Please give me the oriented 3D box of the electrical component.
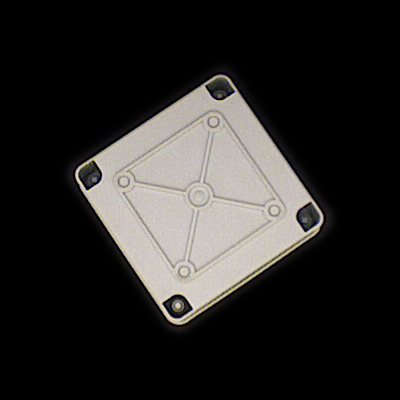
[{"bbox_3d":[0.000,0.000,0.628,0.109,0.109,0.056,-34,-5,-3],"label":"electrical component"}]
